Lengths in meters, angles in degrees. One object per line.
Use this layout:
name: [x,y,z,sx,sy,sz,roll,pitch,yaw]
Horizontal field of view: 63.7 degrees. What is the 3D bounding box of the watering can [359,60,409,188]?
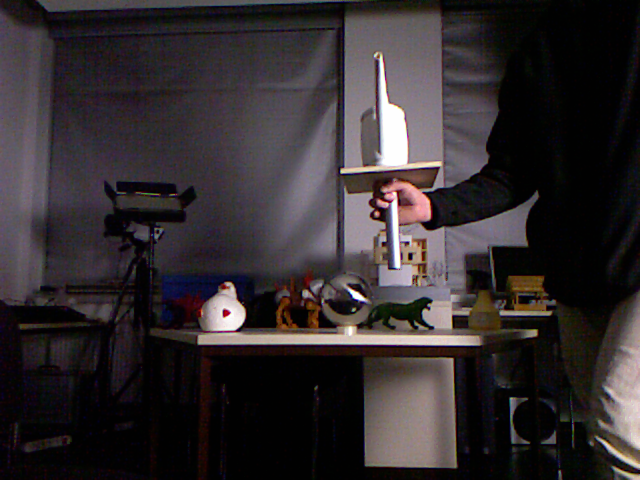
watering can: [0.136,-0.229,1.124,0.104,0.226,0.346,-5,-8,8]
